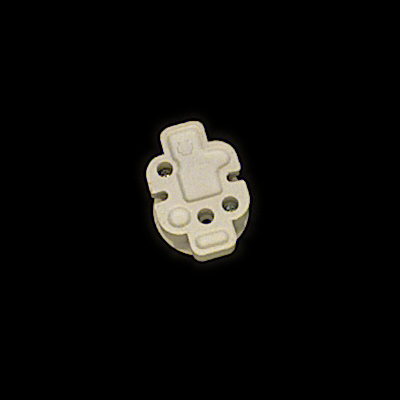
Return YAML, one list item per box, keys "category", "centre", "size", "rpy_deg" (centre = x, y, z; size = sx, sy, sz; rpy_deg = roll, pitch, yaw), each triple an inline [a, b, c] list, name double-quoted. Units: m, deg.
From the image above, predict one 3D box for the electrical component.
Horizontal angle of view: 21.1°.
- category: "electrical component"
  centre: [0.000, 0.000, 0.636]
  size: [0.058, 0.078, 0.056]
  rpy_deg: [-16, -17, -4]
